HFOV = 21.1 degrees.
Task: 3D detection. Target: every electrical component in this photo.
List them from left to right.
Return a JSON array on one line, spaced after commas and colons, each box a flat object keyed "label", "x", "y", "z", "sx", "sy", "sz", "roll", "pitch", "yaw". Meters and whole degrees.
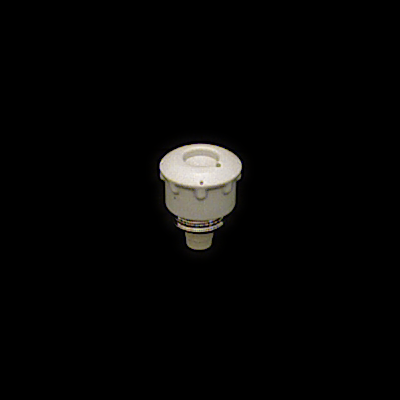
[{"label": "electrical component", "x": 0.000, "y": 0.000, "z": 0.643, "sx": 0.048, "sy": 0.063, "sz": 0.047, "roll": 1, "pitch": 32, "yaw": 0}]
